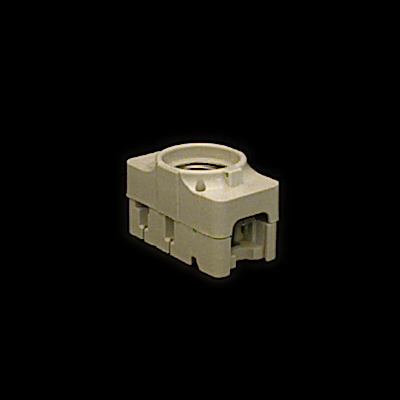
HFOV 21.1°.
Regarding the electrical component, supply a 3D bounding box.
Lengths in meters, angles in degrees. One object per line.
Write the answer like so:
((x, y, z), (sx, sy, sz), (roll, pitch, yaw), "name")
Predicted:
((0.000, 0.000, 0.646), (0.050, 0.056, 0.088), (-17, 28, -37), "electrical component")
